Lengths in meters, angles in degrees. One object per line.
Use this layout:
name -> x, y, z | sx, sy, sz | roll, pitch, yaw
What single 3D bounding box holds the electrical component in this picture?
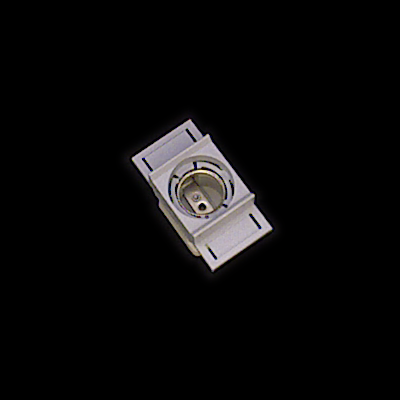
electrical component -> 0.000, 0.000, 0.624 | 0.042, 0.081, 0.063 | -34, -13, -8
